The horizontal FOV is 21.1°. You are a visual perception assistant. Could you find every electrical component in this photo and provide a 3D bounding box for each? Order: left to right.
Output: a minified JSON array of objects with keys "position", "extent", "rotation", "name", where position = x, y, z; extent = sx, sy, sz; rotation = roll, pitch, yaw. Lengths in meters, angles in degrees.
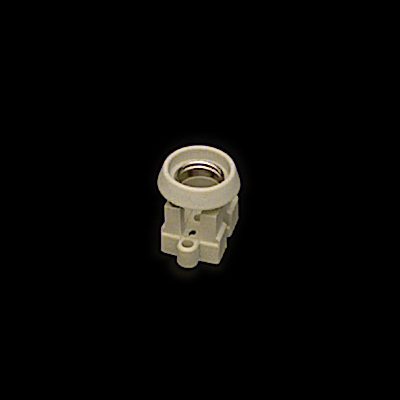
[{"position":[0.000,0.000,0.641],"extent":[0.048,0.056,0.066],"rotation":[13,44,10],"name":"electrical component"}]
